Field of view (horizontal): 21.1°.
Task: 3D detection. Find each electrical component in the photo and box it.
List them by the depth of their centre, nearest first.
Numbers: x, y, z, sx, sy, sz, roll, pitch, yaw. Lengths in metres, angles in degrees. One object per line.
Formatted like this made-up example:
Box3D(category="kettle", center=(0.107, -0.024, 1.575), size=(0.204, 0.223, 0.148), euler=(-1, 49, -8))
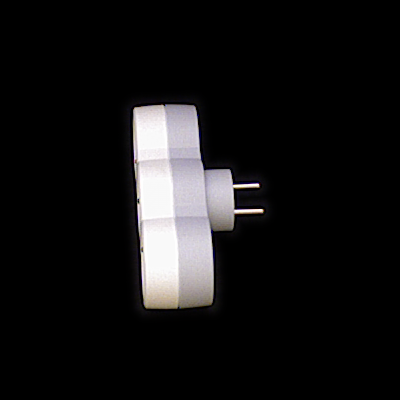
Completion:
Box3D(category="electrical component", center=(0.000, 0.000, 0.633), size=(0.074, 0.137, 0.052), euler=(-3, -38, -5))
